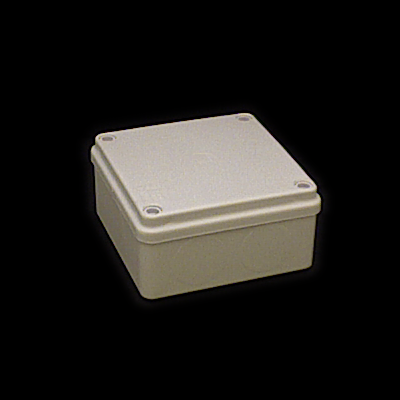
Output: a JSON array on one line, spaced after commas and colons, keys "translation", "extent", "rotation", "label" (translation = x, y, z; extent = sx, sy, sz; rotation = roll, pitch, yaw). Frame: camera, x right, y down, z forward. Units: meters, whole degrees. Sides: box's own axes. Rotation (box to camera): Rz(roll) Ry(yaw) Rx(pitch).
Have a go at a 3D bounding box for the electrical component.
[{"translation": [0.000, 0.000, 0.637], "extent": [0.109, 0.057, 0.107], "rotation": [-10, 33, -18], "label": "electrical component"}]
